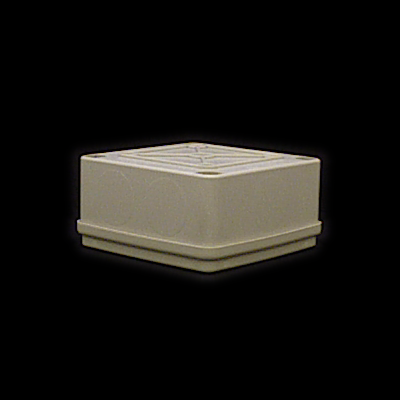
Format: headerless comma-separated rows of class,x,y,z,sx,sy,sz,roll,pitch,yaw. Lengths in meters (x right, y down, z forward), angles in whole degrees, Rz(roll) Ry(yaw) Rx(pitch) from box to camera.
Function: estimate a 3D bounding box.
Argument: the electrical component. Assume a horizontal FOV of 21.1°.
electrical component,0.000,0.000,0.642,0.108,0.056,0.108,10,14,40
